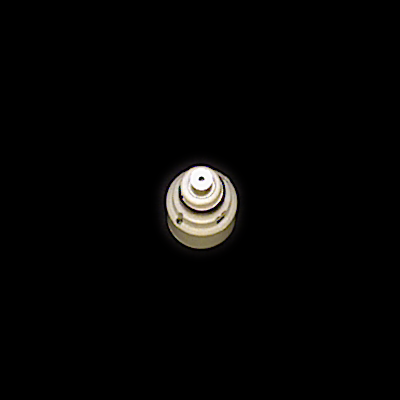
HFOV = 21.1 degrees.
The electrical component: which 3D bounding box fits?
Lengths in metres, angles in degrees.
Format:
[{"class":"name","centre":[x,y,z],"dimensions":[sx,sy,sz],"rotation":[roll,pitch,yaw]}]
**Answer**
[{"class":"electrical component","centre":[0.000,0.000,0.617],"dimensions":[0.040,0.040,0.078],"rotation":[0,-18,0]}]
